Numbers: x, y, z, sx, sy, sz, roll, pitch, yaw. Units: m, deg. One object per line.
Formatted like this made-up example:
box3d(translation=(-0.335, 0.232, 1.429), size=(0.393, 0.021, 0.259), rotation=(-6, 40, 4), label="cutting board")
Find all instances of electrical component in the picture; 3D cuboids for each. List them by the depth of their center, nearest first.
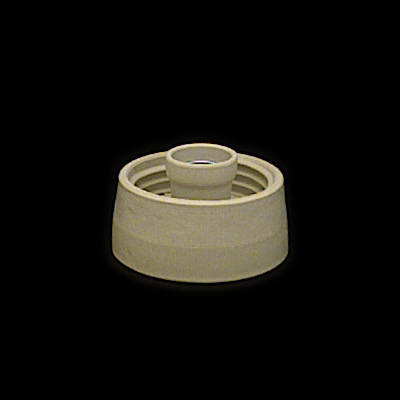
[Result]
box3d(translation=(0.000, 0.000, 0.647), size=(0.108, 0.061, 0.106), rotation=(1, 21, 0), label="electrical component")
